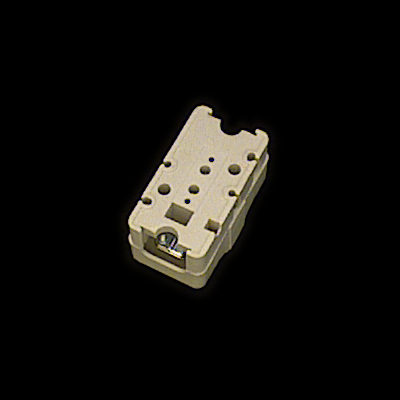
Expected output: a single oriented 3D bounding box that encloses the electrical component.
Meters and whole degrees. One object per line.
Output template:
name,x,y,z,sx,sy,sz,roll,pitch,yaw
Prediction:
electrical component,0.000,0.000,0.636,0.050,0.090,0.055,25,-24,11
